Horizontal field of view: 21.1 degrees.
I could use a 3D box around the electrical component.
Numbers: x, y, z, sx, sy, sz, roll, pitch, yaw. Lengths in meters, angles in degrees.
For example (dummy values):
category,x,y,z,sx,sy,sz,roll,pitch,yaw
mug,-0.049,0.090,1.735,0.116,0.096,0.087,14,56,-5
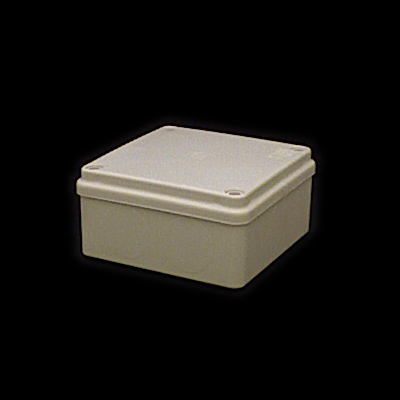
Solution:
category,x,y,z,sx,sy,sz,roll,pitch,yaw
electrical component,0.000,0.000,0.639,0.108,0.057,0.108,11,23,25
